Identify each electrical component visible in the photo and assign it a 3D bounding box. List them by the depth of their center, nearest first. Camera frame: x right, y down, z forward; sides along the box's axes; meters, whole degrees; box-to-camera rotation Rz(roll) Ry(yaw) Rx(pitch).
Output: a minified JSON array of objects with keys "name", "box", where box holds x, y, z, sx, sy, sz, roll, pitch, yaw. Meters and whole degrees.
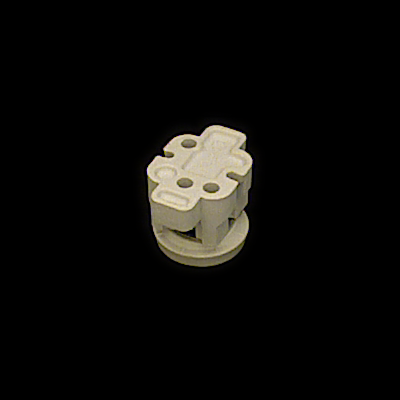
[{"name":"electrical component","box":[0.000,0.000,0.640,0.057,0.057,0.078,18,44,19]}]
